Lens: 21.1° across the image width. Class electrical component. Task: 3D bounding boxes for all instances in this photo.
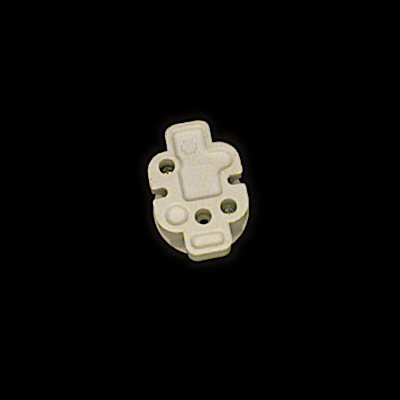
[{"bbox_3d":[0.000,0.000,0.636,0.058,0.078,0.056,-12,-17,-2],"label":"electrical component"}]
